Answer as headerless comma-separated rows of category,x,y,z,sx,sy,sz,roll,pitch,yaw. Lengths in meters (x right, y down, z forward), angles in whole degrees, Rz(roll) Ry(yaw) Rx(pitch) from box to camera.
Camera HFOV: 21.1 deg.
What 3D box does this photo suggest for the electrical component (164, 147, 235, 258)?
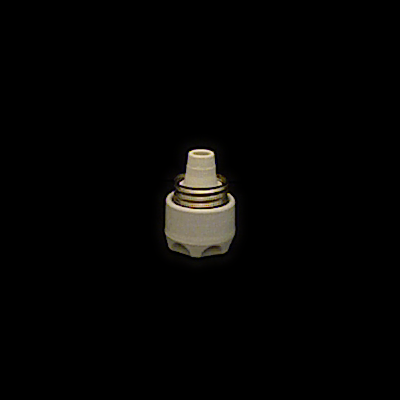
electrical component,0.000,0.000,0.647,0.043,0.063,0.043,1,21,0
